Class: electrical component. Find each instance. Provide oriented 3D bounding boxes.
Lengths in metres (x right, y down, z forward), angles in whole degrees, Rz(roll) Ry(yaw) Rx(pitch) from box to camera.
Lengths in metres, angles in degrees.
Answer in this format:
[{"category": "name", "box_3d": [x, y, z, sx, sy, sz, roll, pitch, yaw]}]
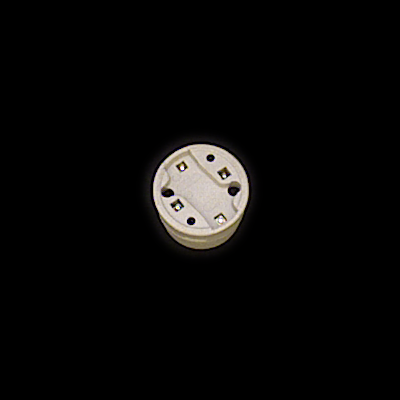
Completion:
[{"category": "electrical component", "box_3d": [0.000, 0.000, 0.635, 0.055, 0.056, 0.047, 0, -17, 0]}]
